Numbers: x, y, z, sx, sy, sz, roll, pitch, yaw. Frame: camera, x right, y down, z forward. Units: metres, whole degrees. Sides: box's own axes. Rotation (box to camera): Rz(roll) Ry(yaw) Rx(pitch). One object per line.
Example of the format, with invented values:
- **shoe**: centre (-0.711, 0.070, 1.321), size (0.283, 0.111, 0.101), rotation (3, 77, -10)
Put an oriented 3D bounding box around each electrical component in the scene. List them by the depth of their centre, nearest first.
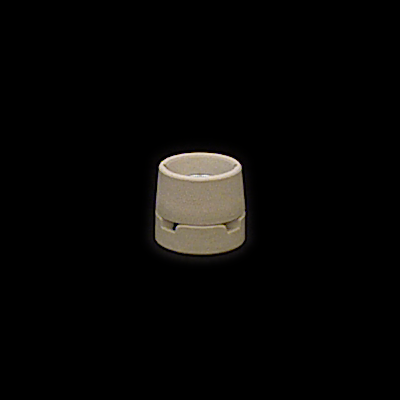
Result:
- **electrical component**: centre (0.000, 0.000, 0.641), size (0.055, 0.047, 0.055), rotation (0, 21, 0)
